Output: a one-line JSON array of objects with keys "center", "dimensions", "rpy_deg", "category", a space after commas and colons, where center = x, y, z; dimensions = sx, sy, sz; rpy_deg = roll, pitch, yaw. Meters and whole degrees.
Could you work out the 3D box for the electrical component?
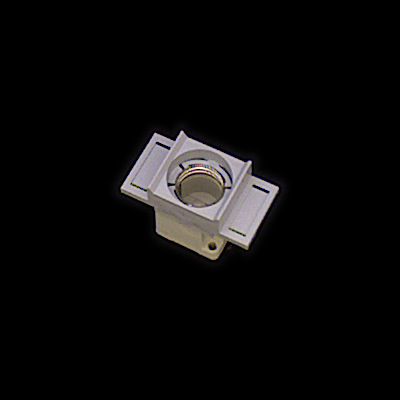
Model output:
[{"center": [0.000, 0.000, 0.624], "dimensions": [0.081, 0.042, 0.063], "rpy_deg": [25, -26, 12], "category": "electrical component"}]
